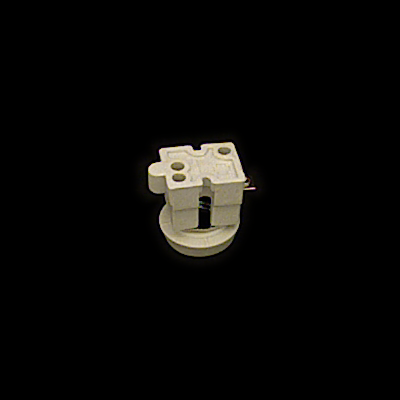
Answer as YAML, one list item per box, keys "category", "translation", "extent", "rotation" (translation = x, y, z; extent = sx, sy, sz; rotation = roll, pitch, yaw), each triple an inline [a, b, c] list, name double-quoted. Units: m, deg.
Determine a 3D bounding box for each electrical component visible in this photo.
- category: "electrical component"
  translation: [0.000, 0.000, 0.639]
  extent: [0.067, 0.056, 0.048]
  rotation: [-6, 42, -9]
